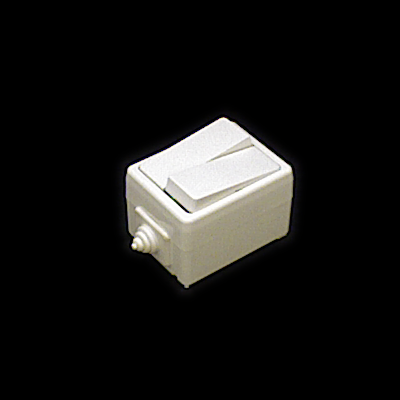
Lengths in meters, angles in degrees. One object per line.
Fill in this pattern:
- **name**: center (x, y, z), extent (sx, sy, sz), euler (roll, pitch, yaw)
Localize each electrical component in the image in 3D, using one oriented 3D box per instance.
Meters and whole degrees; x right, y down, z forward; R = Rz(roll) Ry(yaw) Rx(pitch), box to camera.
- **electrical component**: center (0.000, 0.000, 0.629), extent (0.096, 0.061, 0.061), euler (-26, 48, -27)
